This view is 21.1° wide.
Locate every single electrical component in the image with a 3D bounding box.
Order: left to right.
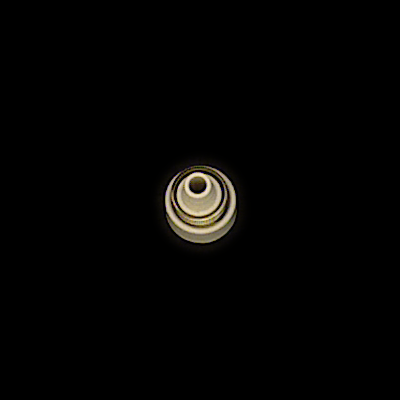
[{"bbox_3d":[0.000,0.000,0.634,0.043,0.043,0.061,0,-16,2],"label":"electrical component"}]
